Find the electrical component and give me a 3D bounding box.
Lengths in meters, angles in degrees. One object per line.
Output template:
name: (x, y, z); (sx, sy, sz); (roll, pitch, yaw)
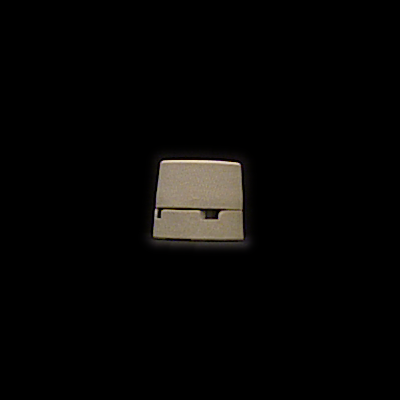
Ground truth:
electrical component: (0.000, 0.000, 0.652); (0.055, 0.047, 0.055); (2, 0, 0)
